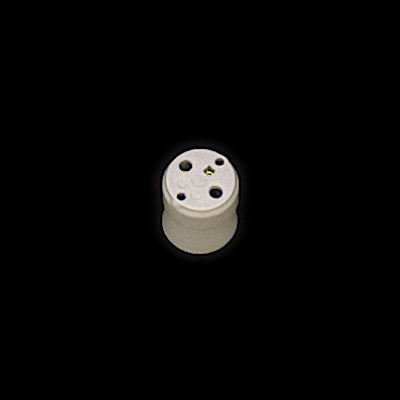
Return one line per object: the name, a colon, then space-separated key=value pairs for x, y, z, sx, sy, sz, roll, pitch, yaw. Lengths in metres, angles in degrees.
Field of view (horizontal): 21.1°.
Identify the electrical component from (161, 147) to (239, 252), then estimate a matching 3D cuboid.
electrical component: x=0.000 y=0.000 z=0.628 sx=0.045 sy=0.045 sz=0.055 roll=0 pitch=-26 yaw=0
